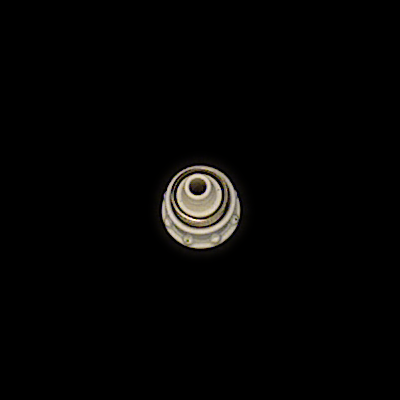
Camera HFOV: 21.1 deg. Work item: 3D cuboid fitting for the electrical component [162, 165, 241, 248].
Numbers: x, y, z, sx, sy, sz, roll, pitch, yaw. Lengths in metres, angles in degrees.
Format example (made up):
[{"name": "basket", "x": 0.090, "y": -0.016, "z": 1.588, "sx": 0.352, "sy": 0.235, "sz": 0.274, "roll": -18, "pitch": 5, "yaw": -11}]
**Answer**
[{"name": "electrical component", "x": 0.000, "y": 0.000, "z": 0.632, "sx": 0.048, "sy": 0.048, "sz": 0.061, "roll": 0, "pitch": -16, "yaw": 2}]
